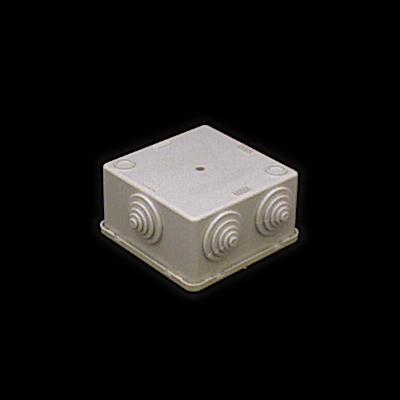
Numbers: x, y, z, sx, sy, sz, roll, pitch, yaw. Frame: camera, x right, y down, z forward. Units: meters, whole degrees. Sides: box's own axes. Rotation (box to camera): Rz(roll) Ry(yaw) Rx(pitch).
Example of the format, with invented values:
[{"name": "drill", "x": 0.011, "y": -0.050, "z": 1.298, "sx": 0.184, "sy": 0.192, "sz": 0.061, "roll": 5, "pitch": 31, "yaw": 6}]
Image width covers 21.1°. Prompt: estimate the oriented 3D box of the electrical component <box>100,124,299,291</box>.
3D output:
[{"name": "electrical component", "x": 0.000, "y": 0.000, "z": 0.638, "sx": 0.099, "sy": 0.049, "sz": 0.099, "roll": -24, "pitch": 40, "yaw": -35}]
